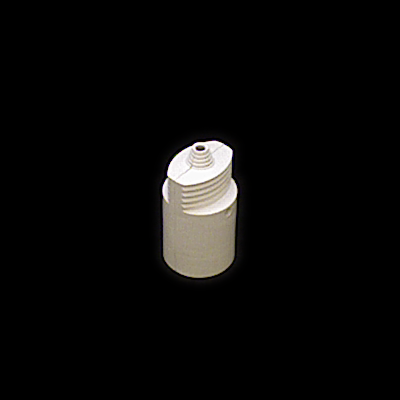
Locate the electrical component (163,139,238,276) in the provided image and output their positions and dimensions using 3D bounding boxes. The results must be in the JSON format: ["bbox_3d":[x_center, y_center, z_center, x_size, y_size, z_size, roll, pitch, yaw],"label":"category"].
[{"bbox_3d":[0.000,0.000,0.623,0.043,0.082,0.042,0,42,0],"label":"electrical component"}]
